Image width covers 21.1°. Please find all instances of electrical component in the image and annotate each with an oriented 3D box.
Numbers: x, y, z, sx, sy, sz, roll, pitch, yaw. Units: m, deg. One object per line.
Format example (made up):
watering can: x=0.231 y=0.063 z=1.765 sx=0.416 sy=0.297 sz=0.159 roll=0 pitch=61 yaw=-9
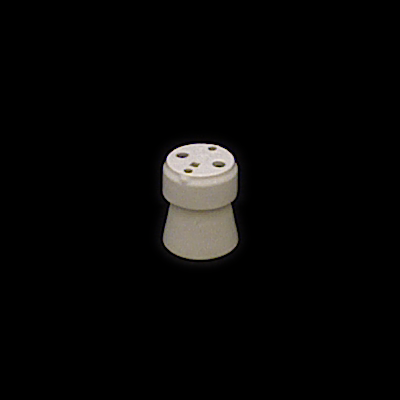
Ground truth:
electrical component: x=0.000 y=0.000 z=0.636 sx=0.045 sy=0.056 sz=0.044 roll=1 pitch=31 yaw=0
